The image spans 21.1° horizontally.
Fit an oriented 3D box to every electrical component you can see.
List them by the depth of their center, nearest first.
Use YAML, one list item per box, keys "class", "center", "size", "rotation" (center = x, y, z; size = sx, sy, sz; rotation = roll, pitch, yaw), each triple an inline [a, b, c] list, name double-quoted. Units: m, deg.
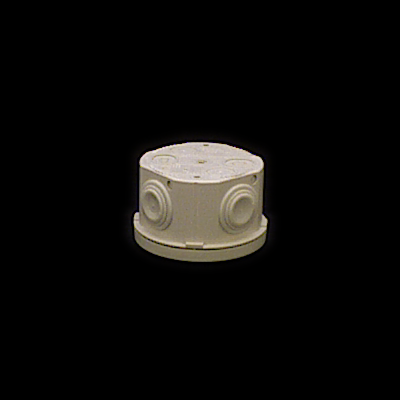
- class: "electrical component"
  center: [0.000, 0.000, 0.640]
  size: [0.080, 0.051, 0.079]
  rotation: [1, 22, 0]
